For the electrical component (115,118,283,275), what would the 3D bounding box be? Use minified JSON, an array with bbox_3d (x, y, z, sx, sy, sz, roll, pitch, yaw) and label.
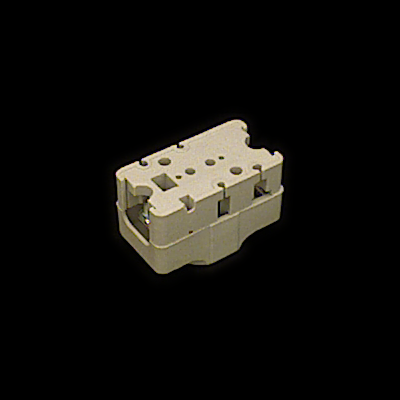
[{"bbox_3d":[0.000,0.000,0.639,0.090,0.056,0.049,-25,49,-25],"label":"electrical component"}]
